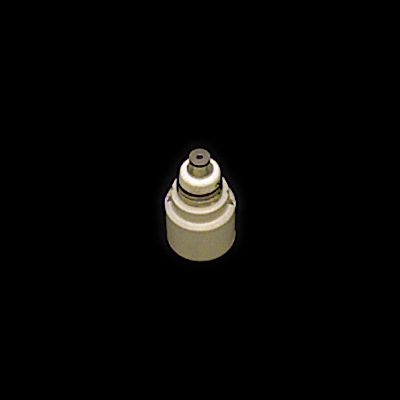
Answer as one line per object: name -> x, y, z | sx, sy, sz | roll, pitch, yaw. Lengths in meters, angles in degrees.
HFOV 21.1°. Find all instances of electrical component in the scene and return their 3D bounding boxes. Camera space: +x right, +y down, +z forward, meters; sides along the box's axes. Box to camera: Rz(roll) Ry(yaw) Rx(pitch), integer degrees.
electrical component -> 0.000, 0.000, 0.620 | 0.040, 0.040, 0.079 | 0, -37, 1
